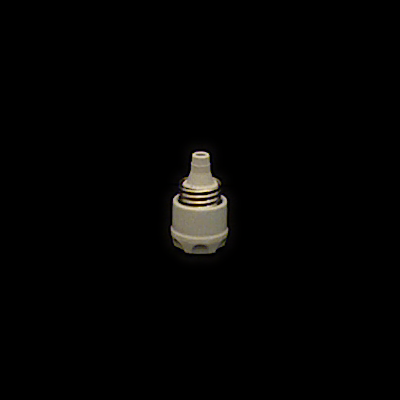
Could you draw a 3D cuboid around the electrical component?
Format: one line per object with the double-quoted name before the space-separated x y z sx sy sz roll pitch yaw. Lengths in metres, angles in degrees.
"electrical component" 0.000 0.000 0.653 0.035 0.062 0.034 1 24 0
